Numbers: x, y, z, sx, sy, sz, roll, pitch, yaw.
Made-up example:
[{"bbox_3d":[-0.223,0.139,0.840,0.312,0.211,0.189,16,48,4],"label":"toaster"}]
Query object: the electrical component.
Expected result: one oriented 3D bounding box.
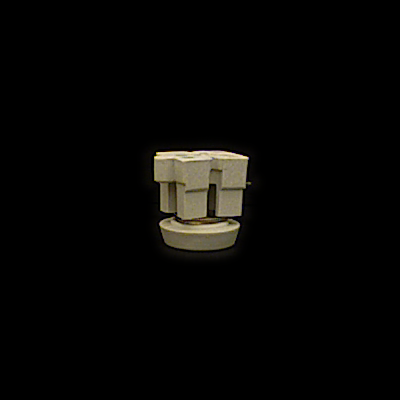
[{"bbox_3d":[0.000,0.000,0.650,0.067,0.056,0.048,-4,12,-29],"label":"electrical component"}]
